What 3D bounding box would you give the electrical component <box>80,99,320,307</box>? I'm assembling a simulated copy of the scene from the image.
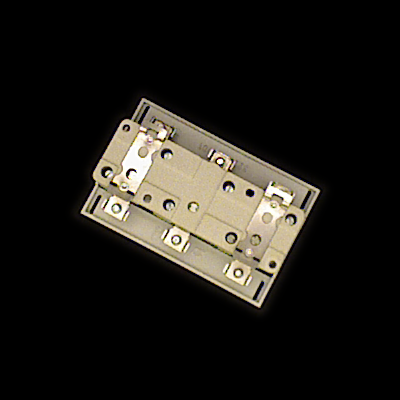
[{"bbox_3d":[0.000,0.000,0.635,0.121,0.079,0.063,27,-6,3],"label":"electrical component"}]
